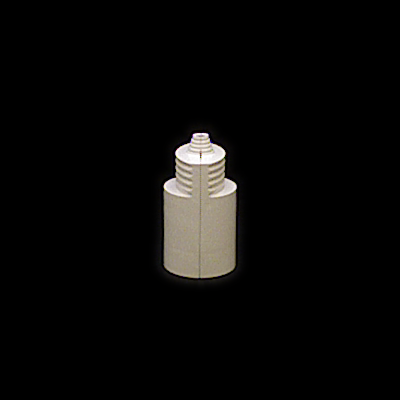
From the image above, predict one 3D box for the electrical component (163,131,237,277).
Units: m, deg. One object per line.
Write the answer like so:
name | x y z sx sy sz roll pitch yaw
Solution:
electrical component | 0.000 0.000 0.636 0.043 0.082 0.042 1 21 0
